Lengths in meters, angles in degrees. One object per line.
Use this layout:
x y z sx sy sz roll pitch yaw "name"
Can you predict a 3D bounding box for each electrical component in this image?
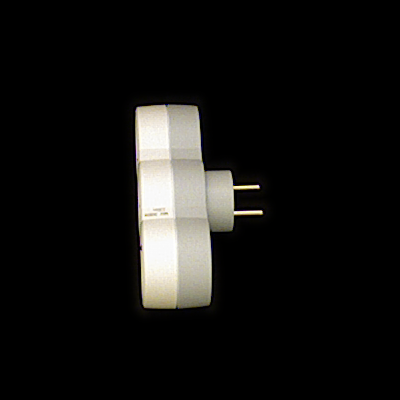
0.000 0.000 0.638 0.074 0.137 0.052 -2 -37 -4 "electrical component"
